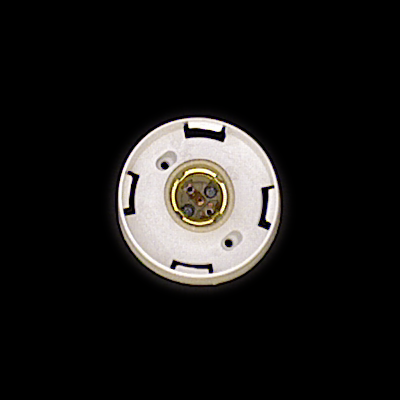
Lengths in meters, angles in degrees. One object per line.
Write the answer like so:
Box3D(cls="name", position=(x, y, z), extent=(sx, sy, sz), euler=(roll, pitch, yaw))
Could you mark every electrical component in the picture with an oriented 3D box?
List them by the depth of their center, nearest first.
Box3D(cls="electrical component", position=(0.000, 0.000, 0.625), extent=(0.099, 0.099, 0.064), euler=(0, -7, 0))
